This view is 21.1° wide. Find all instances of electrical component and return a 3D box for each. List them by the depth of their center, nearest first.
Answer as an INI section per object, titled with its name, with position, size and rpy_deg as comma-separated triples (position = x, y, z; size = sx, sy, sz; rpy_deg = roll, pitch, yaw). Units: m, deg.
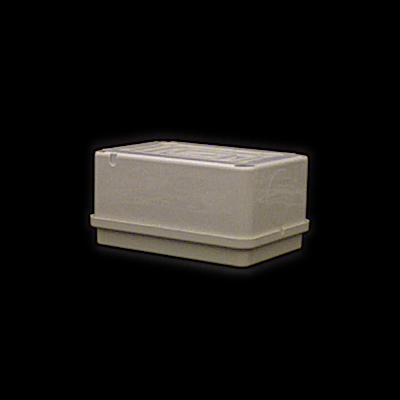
[electrical component]
position = 0.000, 0.000, 0.644
size = 0.112, 0.057, 0.078
rpy_deg = 8, 13, 32
